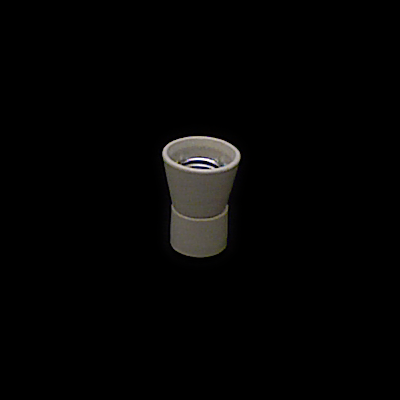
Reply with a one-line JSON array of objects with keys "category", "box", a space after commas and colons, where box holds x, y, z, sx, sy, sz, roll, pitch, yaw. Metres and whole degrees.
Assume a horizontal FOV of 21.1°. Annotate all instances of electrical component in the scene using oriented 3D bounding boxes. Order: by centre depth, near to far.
[{"category": "electrical component", "box": [0.000, 0.000, 0.635, 0.044, 0.066, 0.044, 1, 30, -1]}]
